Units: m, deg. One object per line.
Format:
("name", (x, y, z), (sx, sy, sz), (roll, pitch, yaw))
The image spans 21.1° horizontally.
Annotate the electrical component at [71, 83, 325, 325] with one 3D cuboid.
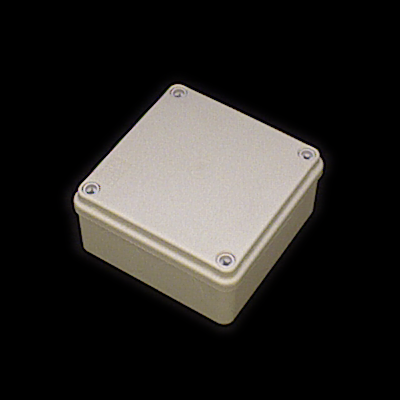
("electrical component", (0.000, 0.000, 0.631), (0.108, 0.108, 0.056), (27, -33, 18))
